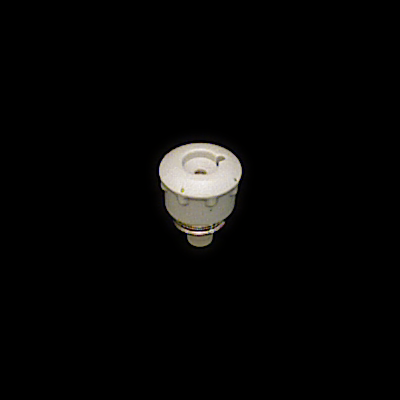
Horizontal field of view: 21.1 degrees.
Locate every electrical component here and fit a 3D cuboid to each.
[{"bbox_3d":[0.000,0.000,0.639,0.048,0.062,0.047,1,43,0],"label":"electrical component"}]
